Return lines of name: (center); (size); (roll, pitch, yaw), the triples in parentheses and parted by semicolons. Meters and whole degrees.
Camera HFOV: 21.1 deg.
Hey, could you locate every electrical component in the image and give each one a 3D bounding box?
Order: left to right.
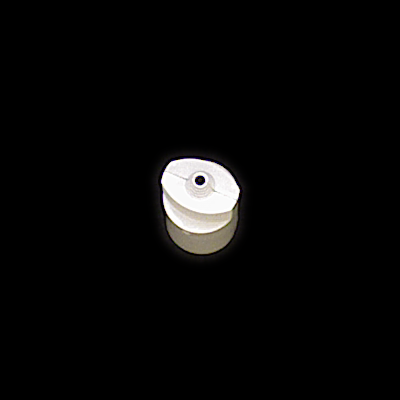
electrical component: (0.000, 0.000, 0.616); (0.043, 0.043, 0.080); (0, -17, 1)
